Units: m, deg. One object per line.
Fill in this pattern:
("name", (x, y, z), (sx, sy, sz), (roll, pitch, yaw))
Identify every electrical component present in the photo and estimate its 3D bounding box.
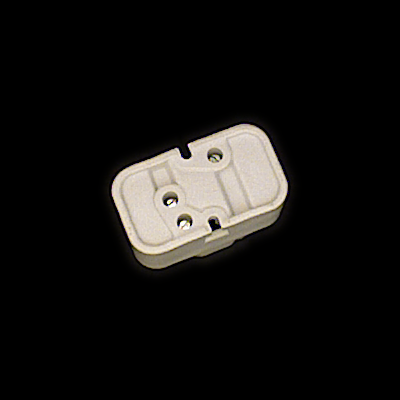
("electrical component", (0.000, 0.000, 0.635), (0.095, 0.054, 0.059), (-21, -15, -6))
